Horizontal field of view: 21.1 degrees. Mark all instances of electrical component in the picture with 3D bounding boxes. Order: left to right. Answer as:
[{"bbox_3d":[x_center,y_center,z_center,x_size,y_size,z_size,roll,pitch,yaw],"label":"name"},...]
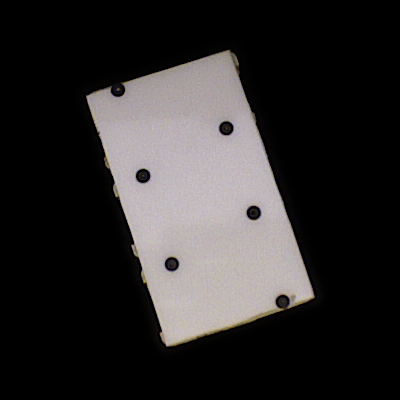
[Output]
[{"bbox_3d":[0.000,0.000,0.631,0.090,0.150,0.061,-18,-6,-2],"label":"electrical component"}]
